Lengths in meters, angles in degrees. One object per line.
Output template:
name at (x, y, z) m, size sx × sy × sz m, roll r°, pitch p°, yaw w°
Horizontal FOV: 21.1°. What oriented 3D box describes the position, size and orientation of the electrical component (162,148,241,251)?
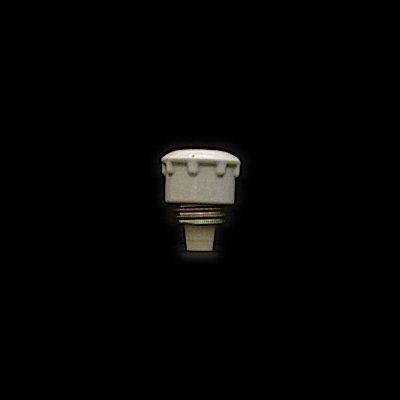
electrical component at (0.000, 0.000, 0.655) m, size 0.048 × 0.062 × 0.048 m, roll 2°, pitch 1°, yaw 1°
